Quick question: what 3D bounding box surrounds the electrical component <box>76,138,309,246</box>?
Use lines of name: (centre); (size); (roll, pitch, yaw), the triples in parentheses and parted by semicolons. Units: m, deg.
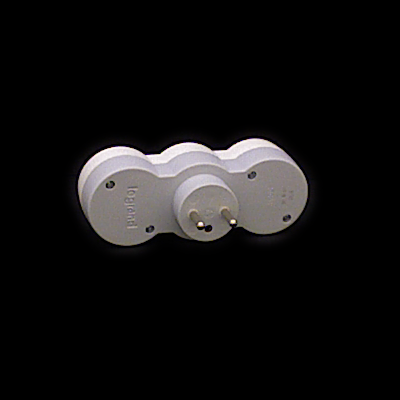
electrical component: (0.000, 0.000, 0.642); (0.138, 0.053, 0.073); (-4, 23, -15)
